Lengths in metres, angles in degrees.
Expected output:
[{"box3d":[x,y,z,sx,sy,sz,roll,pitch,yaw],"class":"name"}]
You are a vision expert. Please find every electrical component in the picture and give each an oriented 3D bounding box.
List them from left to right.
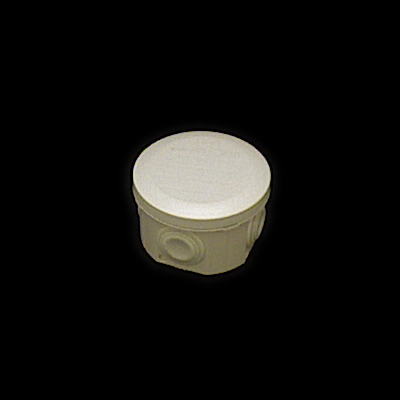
[{"box3d":[0.000,0.000,0.633,0.080,0.051,0.079,1,42,0],"class":"electrical component"}]
